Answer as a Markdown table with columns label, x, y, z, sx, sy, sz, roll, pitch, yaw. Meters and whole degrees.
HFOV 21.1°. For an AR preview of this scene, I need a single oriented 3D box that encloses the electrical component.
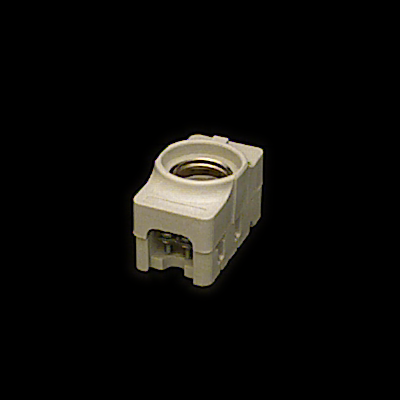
| label | x | y | z | sx | sy | sz | roll | pitch | yaw |
| --- | --- | --- | --- | --- | --- | --- | --- | --- | --- |
| electrical component | 0.000 | 0.000 | 0.642 | 0.050 | 0.056 | 0.089 | 13 | 34 | 18 |
